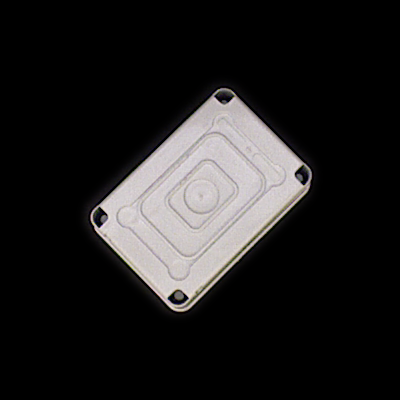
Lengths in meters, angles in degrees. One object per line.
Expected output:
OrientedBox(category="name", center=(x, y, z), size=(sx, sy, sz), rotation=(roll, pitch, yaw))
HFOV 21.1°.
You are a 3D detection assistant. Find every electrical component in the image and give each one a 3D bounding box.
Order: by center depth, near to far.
OrientedBox(category="electrical component", center=(0.000, 0.000, 0.628), size=(0.113, 0.078, 0.057), rotation=(-44, -5, -5))
